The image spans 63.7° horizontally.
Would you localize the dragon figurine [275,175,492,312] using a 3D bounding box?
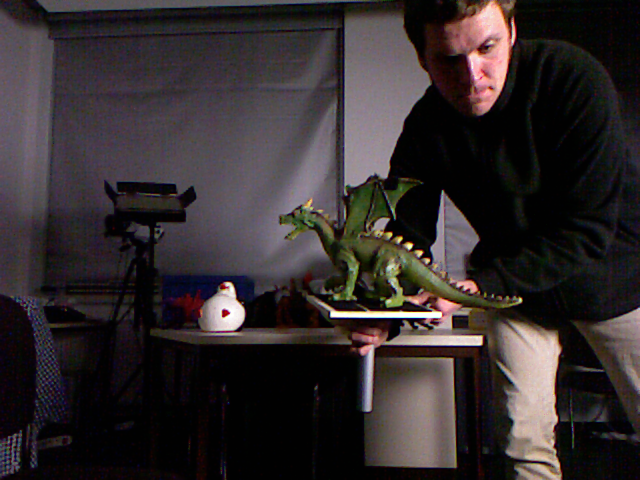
[{"bbox_3d":[0.112,-0.002,0.972,0.410,0.242,0.122,3,4,16],"label":"dragon figurine"}]
